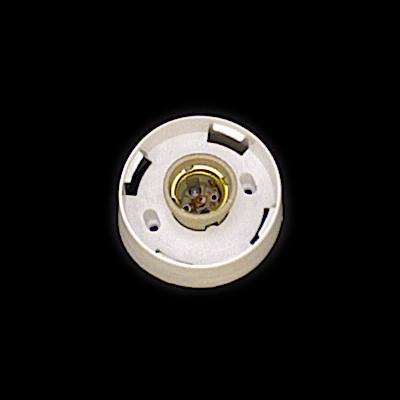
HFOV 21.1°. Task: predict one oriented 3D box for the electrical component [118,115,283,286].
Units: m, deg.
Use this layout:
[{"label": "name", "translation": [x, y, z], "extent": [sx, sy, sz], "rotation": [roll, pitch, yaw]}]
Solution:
[{"label": "electrical component", "translation": [0.000, 0.000, 0.624], "extent": [0.099, 0.099, 0.064], "rotation": [0, -17, 0]}]
